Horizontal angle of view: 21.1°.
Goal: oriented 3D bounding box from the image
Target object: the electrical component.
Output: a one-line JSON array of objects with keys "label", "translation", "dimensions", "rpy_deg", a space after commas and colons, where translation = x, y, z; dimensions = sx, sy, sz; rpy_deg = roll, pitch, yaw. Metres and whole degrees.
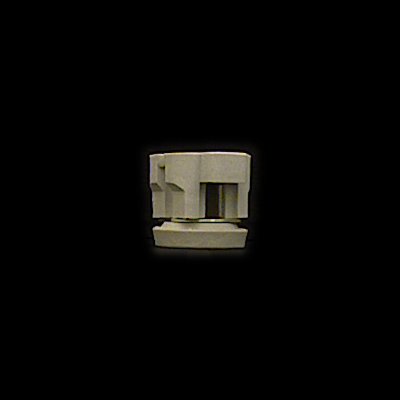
[{"label": "electrical component", "translation": [0.000, 0.000, 0.657], "dimensions": [0.058, 0.057, 0.078], "rpy_deg": [0, 0, -30]}]
